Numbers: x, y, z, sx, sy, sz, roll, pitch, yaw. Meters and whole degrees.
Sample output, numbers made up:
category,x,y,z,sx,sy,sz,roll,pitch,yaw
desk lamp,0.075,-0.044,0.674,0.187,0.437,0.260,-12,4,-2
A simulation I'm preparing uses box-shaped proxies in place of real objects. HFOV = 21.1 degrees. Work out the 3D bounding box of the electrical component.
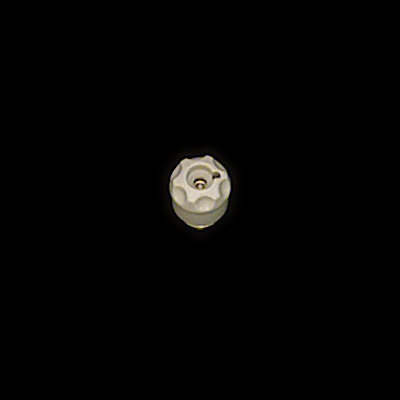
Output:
category,x,y,z,sx,sy,sz,roll,pitch,yaw
electrical component,0.000,0.000,0.633,0.035,0.035,0.061,0,-26,0
